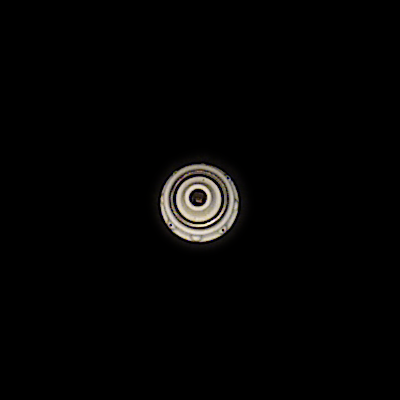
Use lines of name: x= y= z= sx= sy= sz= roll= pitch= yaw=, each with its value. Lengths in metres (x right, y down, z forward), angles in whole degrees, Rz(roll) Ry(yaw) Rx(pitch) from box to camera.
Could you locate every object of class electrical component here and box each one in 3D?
electrical component: x=0.000 y=0.000 z=0.635 sx=0.048 sy=0.048 sz=0.062 roll=0 pitch=-4 yaw=1
